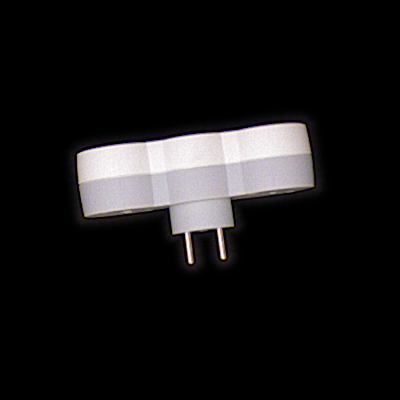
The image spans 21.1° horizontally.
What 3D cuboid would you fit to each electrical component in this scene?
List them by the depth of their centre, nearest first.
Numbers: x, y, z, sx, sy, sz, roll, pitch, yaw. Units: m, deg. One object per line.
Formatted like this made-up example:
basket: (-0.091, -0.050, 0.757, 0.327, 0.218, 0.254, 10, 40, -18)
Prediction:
electrical component: (0.000, 0.000, 0.632, 0.138, 0.074, 0.052, -8, -5, -2)
